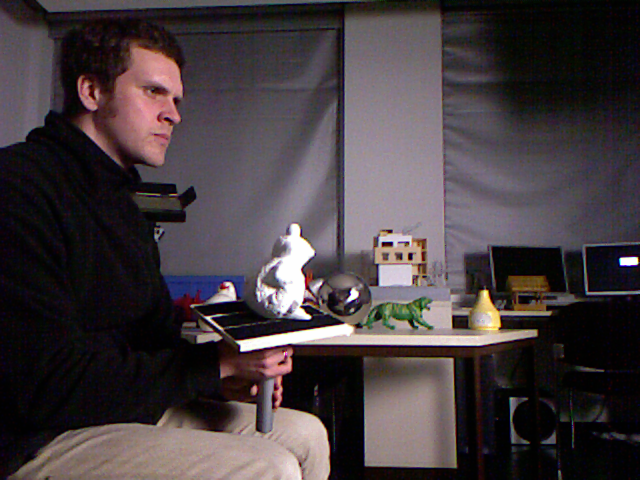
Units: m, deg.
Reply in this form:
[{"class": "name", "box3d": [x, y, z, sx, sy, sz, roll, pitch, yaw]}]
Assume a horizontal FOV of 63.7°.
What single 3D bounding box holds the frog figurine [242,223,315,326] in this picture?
[{"class": "frog figurine", "box3d": [-0.068, 0.052, 0.861, 0.123, 0.158, 0.139, 0, 12, -13]}]
